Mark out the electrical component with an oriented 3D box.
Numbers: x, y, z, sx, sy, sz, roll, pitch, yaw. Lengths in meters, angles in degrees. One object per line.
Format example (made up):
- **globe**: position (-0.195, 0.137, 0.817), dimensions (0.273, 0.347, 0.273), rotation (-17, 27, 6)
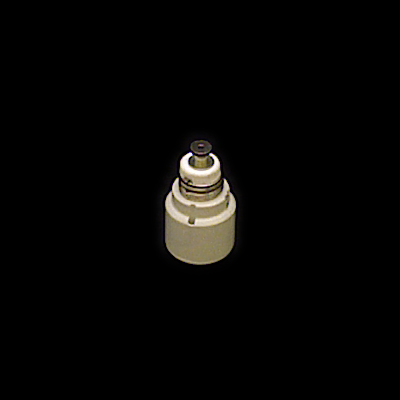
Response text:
- **electrical component**: position (0.000, 0.000, 0.623), dimensions (0.040, 0.079, 0.039), rotation (0, 41, 0)
